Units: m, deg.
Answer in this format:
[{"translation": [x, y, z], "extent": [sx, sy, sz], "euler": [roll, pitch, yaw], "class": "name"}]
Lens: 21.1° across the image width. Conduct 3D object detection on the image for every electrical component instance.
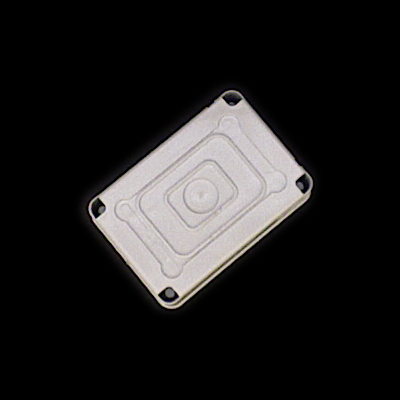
[{"translation": [0.000, 0.000, 0.628], "extent": [0.113, 0.078, 0.057], "euler": [-39, -5, -3], "class": "electrical component"}]
